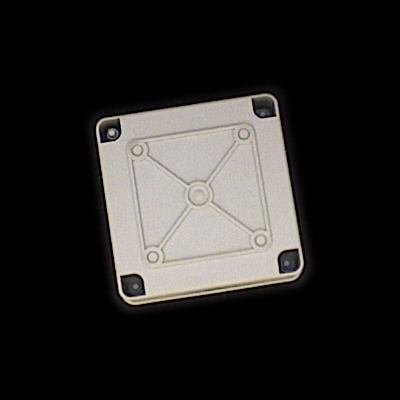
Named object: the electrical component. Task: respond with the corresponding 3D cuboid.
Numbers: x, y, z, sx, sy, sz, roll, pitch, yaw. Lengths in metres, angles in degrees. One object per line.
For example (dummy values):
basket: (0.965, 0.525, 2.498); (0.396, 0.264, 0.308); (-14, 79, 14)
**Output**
electrical component: (0.000, 0.000, 0.629); (0.109, 0.109, 0.056); (-9, -7, -1)
